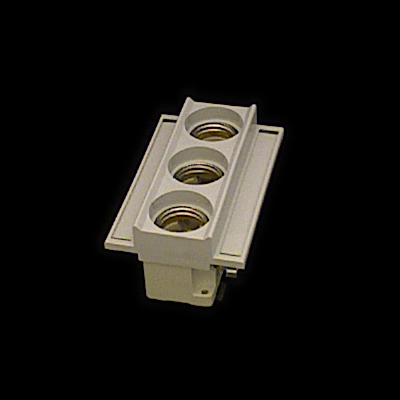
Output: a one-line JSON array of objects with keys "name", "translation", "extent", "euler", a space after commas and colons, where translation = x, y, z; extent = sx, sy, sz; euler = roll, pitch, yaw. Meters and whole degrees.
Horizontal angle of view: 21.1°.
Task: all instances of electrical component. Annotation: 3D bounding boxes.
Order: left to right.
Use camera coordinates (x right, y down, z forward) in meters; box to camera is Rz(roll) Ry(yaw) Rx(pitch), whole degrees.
[{"name": "electrical component", "translation": [0.000, 0.000, 0.641], "extent": [0.078, 0.064, 0.120], "euler": [8, 43, 11]}]
